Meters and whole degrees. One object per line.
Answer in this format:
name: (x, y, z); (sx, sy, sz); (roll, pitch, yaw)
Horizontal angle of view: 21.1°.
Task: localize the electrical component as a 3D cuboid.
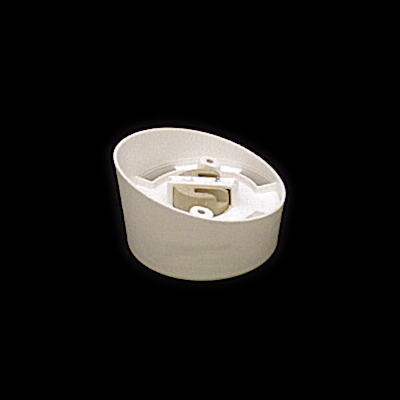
electrical component: (0.000, 0.000, 0.632); (0.099, 0.065, 0.097); (0, 31, 0)
